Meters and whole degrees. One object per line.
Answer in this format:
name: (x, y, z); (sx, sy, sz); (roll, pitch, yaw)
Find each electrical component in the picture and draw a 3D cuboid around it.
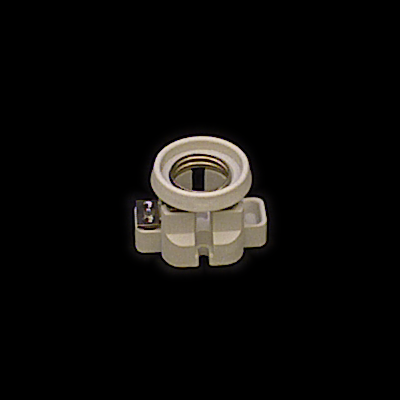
electrical component: (0.000, 0.000, 0.631); (0.078, 0.057, 0.057); (-3, 42, -4)
